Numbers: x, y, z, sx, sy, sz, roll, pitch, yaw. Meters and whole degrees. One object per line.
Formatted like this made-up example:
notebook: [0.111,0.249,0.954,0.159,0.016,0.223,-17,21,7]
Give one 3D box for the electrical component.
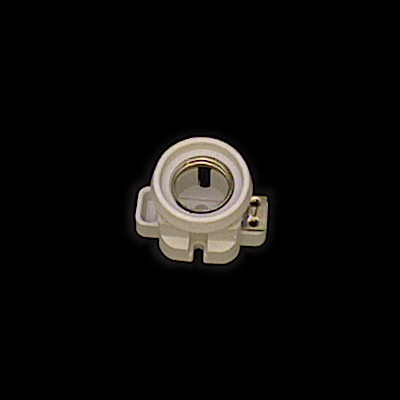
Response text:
electrical component: [0.000,0.000,0.629,0.078,0.058,0.057,5,-27,2]
